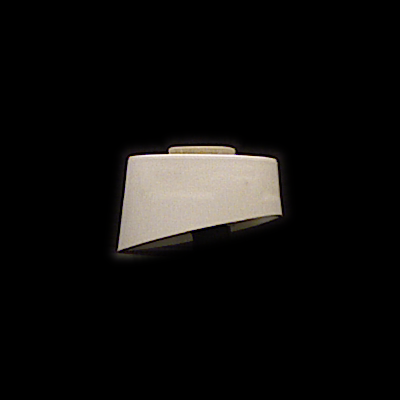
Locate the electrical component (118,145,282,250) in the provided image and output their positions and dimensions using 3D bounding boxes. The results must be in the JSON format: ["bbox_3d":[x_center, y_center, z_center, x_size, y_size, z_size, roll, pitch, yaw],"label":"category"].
[{"bbox_3d":[0.000,0.000,0.650,0.099,0.064,0.099,1,0,0],"label":"electrical component"}]
